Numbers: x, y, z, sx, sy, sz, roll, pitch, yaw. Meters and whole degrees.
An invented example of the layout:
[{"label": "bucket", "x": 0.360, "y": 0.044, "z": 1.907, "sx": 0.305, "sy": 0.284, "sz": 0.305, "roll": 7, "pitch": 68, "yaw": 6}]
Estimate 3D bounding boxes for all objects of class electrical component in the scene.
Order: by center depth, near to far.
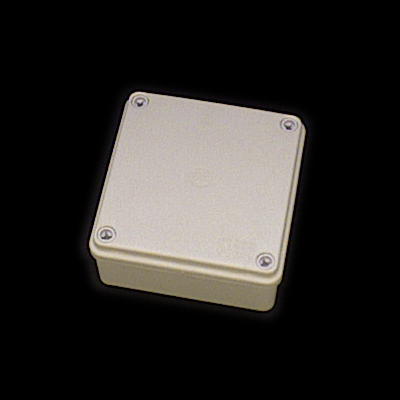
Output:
[{"label": "electrical component", "x": 0.000, "y": 0.000, "z": 0.630, "sx": 0.108, "sy": 0.109, "sz": 0.056, "roll": 9, "pitch": -28, "yaw": 5}]
